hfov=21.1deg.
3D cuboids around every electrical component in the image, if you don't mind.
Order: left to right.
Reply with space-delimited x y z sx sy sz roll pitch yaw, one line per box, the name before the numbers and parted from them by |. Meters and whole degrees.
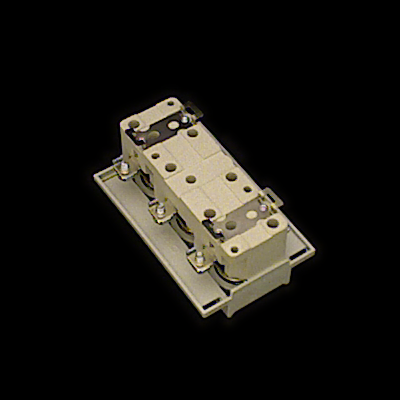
electrical component | 0.000 0.000 0.636 0.079 0.120 0.063 -28 -32 -21
